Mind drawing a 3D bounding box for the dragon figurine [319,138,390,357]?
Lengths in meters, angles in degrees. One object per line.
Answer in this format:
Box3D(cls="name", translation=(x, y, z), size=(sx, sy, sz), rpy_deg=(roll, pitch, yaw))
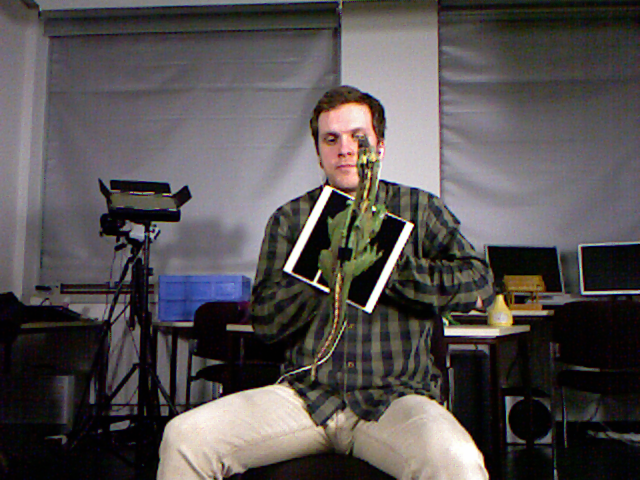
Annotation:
Box3D(cls="dragon figurine", translation=(0.047, 0.021, 0.934), size=(0.123, 0.415, 0.242), rpy_deg=(11, -6, 9))
